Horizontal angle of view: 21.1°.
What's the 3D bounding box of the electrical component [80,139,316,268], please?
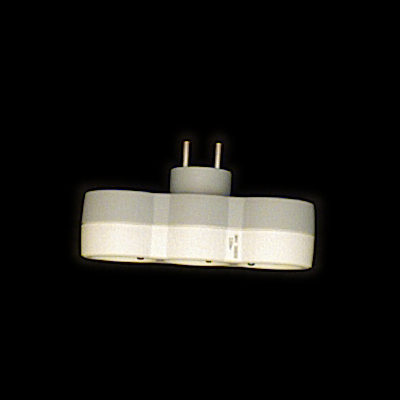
[{"bbox_3d":[0.000,0.000,0.640,0.138,0.074,0.052,3,-7,0],"label":"electrical component"}]
